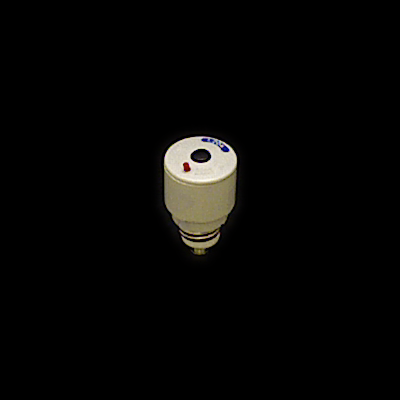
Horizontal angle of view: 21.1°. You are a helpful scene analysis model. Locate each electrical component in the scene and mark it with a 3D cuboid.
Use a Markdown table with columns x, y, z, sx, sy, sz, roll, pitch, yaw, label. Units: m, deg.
| x | y | z | sx | sy | sz | roll | pitch | yaw | label |
| --- | --- | --- | --- | --- | --- | --- | --- | --- | --- |
| 0.000 | 0.000 | 0.623 | 0.040 | 0.079 | 0.039 | 0 | 42 | 0 | electrical component |
